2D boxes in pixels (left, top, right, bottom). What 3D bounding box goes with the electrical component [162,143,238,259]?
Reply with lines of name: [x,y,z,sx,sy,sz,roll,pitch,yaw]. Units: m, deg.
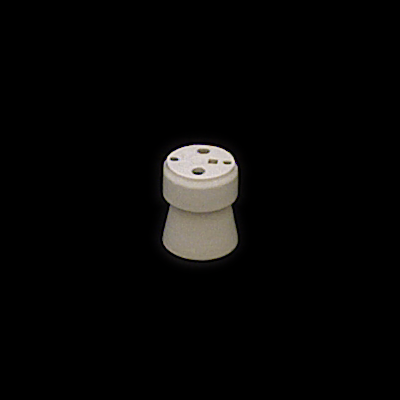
electrical component: [0.000,0.000,0.634,0.045,0.056,0.044,0,32,0]
